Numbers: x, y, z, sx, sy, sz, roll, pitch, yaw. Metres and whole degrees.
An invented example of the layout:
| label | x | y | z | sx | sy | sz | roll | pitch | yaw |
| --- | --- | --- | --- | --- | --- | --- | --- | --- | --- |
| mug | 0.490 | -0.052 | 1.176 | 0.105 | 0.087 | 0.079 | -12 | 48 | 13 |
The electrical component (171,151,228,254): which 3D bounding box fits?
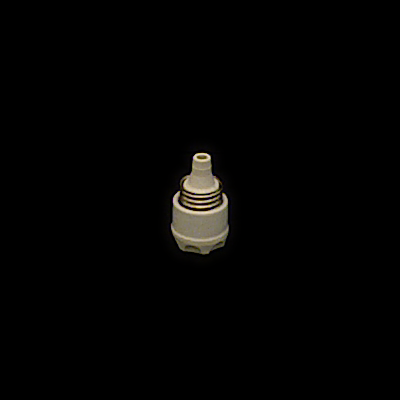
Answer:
| label | x | y | z | sx | sy | sz | roll | pitch | yaw |
| --- | --- | --- | --- | --- | --- | --- | --- | --- | --- |
| electrical component | 0.000 | 0.000 | 0.647 | 0.035 | 0.062 | 0.034 | 2 | 32 | -1 |
